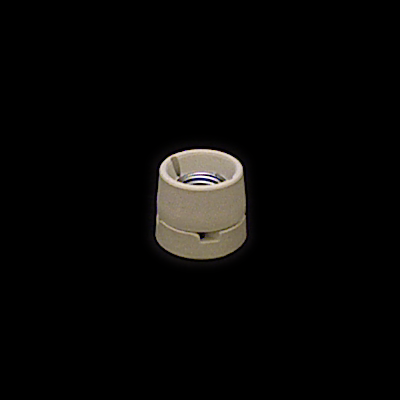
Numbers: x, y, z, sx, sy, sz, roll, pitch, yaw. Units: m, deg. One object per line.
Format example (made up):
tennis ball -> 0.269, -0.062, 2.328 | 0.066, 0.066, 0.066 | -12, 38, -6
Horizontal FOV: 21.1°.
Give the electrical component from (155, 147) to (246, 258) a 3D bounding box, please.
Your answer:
electrical component -> 0.000, 0.000, 0.639 | 0.055, 0.047, 0.055 | 0, 31, 0
